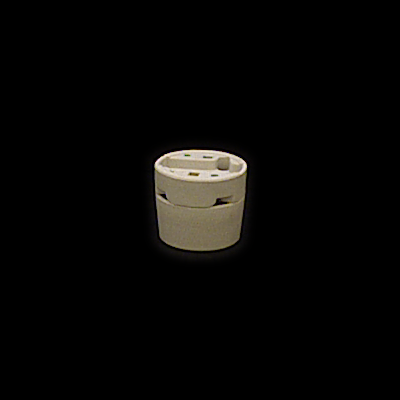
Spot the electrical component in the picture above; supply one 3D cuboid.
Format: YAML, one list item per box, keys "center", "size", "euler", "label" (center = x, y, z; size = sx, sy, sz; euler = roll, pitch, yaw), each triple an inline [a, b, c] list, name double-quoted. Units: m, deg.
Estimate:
- center: [0.000, 0.000, 0.642]
  size: [0.055, 0.047, 0.055]
  euler: [1, 21, 0]
  label: "electrical component"
